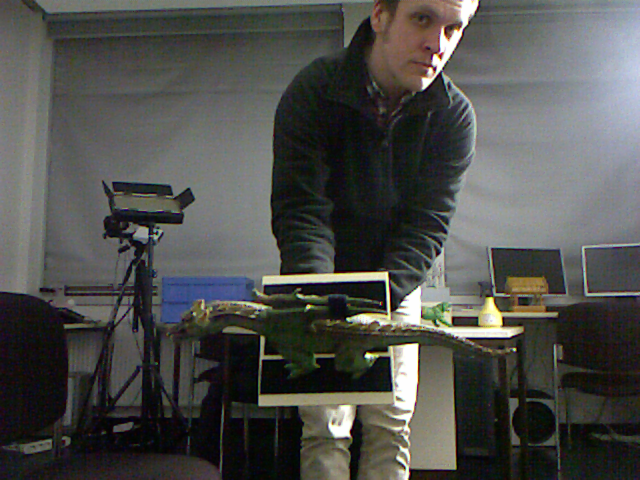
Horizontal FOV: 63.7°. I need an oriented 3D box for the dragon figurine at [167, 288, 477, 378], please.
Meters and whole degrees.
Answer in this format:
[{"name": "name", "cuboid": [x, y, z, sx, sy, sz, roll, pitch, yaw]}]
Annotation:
[{"name": "dragon figurine", "cuboid": [0.012, 0.113, 0.671, 0.411, 0.124, 0.240, -2, -17, 5]}]
